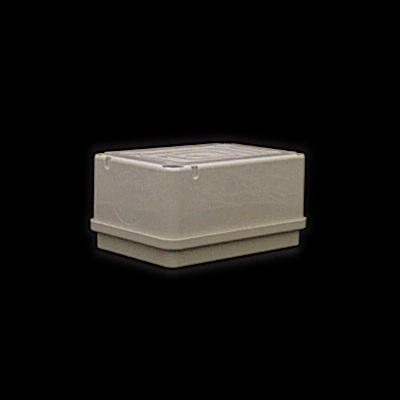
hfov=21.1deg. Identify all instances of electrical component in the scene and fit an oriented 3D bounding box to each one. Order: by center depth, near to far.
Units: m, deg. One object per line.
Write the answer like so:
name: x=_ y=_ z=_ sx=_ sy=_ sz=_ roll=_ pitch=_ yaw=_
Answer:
electrical component: x=0.000 y=0.000 z=0.645 sx=0.113 sy=0.057 sz=0.077 roll=-7 pitch=13 yaw=-42
